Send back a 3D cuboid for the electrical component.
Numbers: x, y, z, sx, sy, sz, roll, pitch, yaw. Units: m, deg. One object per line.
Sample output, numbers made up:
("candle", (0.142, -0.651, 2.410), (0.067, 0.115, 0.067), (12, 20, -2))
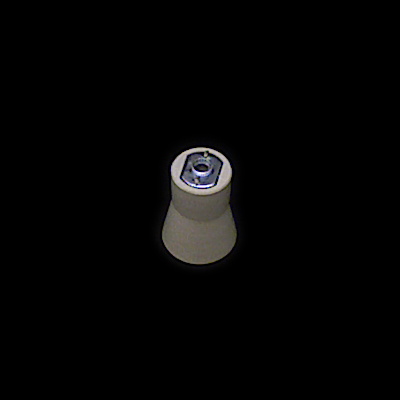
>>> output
("electrical component", (0.000, 0.000, 0.626), (0.044, 0.044, 0.065), (0, -38, -2))
